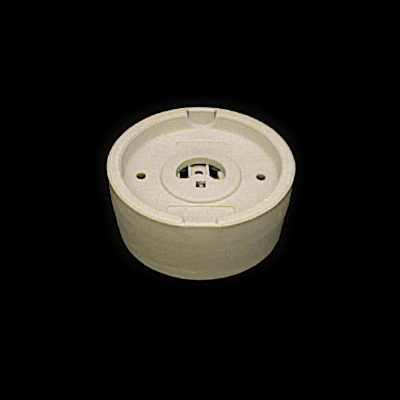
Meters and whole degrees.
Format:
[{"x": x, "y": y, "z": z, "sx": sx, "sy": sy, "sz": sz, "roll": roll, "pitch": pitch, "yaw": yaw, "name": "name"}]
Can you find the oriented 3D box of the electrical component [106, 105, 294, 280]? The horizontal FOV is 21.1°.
[{"x": 0.000, "y": 0.000, "z": 0.635, "sx": 0.108, "sy": 0.061, "sz": 0.107, "roll": 1, "pitch": 42, "yaw": 0, "name": "electrical component"}]
